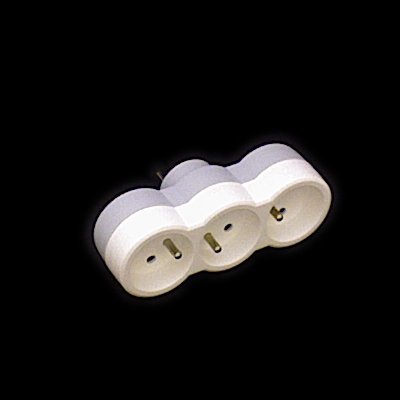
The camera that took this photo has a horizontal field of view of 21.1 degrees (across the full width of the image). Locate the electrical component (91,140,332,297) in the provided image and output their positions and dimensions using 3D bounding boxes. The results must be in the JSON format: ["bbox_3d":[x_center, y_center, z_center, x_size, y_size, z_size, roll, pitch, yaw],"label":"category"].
[{"bbox_3d":[0.000,0.000,0.632,0.138,0.052,0.073,-20,44,-20],"label":"electrical component"}]
